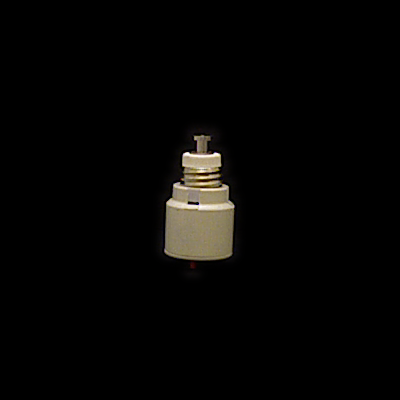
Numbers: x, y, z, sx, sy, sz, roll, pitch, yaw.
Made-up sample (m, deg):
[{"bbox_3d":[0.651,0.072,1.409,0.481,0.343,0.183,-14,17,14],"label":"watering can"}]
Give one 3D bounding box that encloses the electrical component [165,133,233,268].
[{"bbox_3d":[0.000,0.000,0.642,0.040,0.079,0.040,2,11,0],"label":"electrical component"}]
